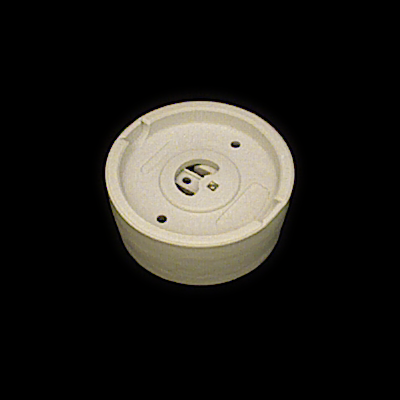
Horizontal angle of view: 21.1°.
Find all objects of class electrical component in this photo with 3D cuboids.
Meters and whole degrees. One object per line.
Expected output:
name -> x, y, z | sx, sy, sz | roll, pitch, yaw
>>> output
electrical component -> 0.000, 0.000, 0.635 | 0.108, 0.107, 0.060 | 0, -37, 0
